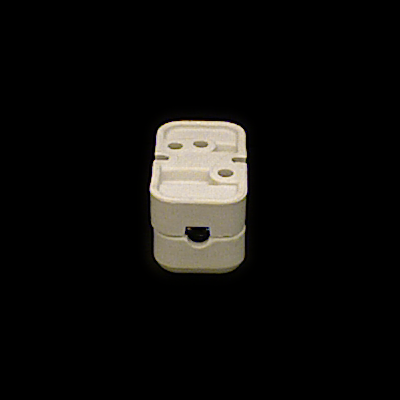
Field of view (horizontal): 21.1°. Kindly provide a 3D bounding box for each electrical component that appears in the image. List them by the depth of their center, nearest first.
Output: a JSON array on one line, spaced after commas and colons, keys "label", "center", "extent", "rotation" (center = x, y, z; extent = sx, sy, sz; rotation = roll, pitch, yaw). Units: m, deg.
[{"label": "electrical component", "center": [0.000, 0.000, 0.640], "extent": [0.054, 0.060, 0.094], "rotation": [1, 33, 1]}]
